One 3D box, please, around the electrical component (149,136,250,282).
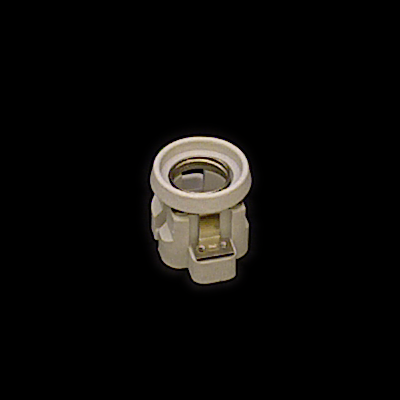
[{"bbox_3d":[0.000,0.000,0.630,0.058,0.057,0.077,-9,43,-11],"label":"electrical component"}]
